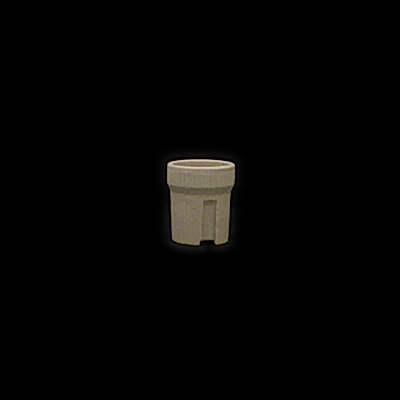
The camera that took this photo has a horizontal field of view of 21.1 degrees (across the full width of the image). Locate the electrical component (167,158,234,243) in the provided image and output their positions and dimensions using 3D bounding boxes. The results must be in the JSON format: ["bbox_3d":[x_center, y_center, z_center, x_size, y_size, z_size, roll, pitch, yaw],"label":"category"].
[{"bbox_3d":[0.000,0.000,0.646,0.040,0.046,0.040,1,11,0],"label":"electrical component"}]
